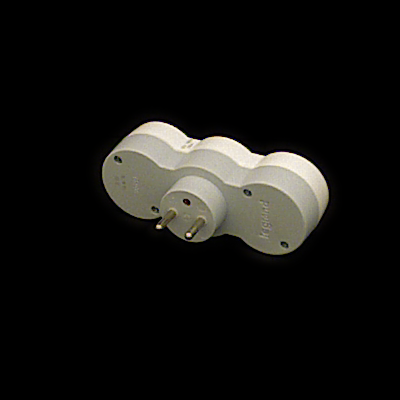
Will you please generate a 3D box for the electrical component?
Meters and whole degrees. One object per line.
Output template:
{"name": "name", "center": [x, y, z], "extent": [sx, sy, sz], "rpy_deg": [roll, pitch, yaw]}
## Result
{"name": "electrical component", "center": [0.000, 0.000, 0.642], "extent": [0.137, 0.053, 0.073], "rpy_deg": [15, 36, 21]}
